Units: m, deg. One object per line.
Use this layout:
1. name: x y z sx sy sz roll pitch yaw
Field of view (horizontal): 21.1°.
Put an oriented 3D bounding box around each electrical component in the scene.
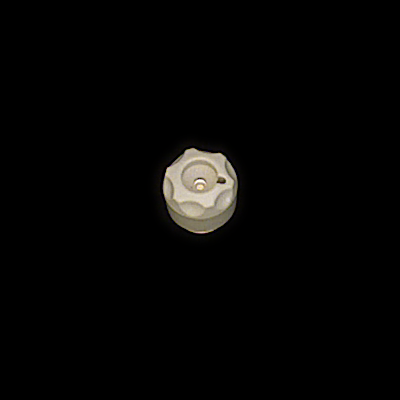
1. electrical component: 0.000 0.000 0.634 0.043 0.043 0.062 0 -26 1
